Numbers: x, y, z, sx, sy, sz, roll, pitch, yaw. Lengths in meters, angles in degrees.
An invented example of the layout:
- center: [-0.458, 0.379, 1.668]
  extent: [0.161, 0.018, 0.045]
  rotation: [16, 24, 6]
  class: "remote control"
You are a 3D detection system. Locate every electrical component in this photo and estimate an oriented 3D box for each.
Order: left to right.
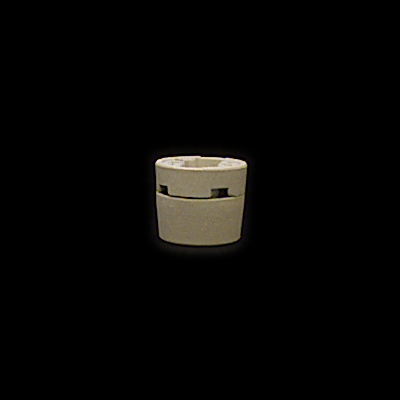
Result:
- center: [0.000, 0.000, 0.647]
  extent: [0.055, 0.047, 0.055]
  rotation: [1, 11, 0]
  class: "electrical component"
